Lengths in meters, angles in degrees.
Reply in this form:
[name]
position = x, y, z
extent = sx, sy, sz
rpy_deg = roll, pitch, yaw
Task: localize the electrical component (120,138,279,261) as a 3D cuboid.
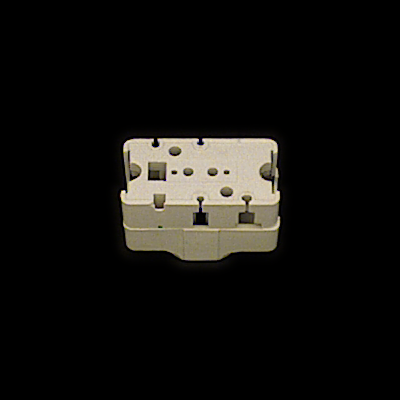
[electrical component]
position = 0.000, 0.000, 0.637
extent = 0.089, 0.050, 0.056
rpy_deg = 0, -36, 0
